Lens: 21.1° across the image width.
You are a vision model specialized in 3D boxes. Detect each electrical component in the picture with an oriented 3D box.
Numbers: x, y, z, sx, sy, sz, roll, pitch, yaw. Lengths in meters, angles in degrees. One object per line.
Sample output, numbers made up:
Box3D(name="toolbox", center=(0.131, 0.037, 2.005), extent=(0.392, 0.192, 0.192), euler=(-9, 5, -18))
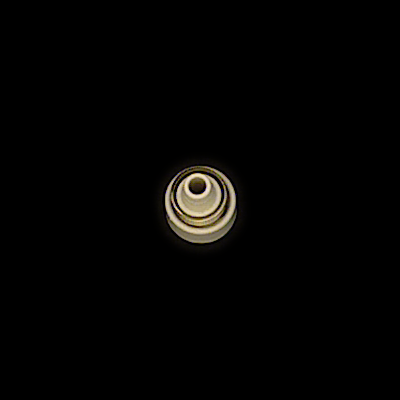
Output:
Box3D(name="electrical component", center=(0.000, 0.000, 0.634), extent=(0.043, 0.043, 0.061), euler=(0, -16, 2))
